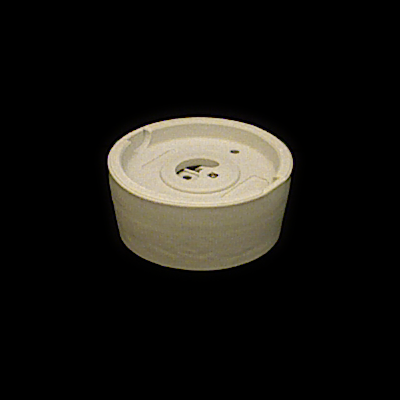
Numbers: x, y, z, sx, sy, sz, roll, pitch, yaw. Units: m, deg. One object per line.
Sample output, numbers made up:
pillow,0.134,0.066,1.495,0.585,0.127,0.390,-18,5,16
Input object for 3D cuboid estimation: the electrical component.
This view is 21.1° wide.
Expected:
electrical component,0.000,0.000,0.641,0.108,0.061,0.106,1,32,0
